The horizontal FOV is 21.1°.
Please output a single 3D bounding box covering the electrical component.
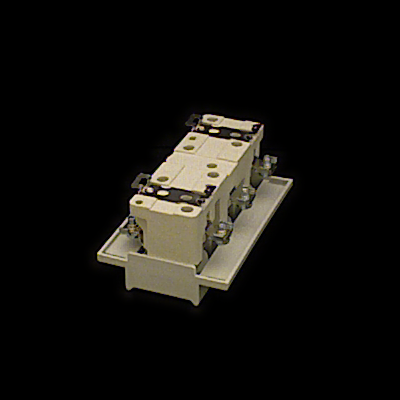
[{"bbox_3d":[0.000,0.000,0.641,0.078,0.064,0.121,11,33,18],"label":"electrical component"}]
